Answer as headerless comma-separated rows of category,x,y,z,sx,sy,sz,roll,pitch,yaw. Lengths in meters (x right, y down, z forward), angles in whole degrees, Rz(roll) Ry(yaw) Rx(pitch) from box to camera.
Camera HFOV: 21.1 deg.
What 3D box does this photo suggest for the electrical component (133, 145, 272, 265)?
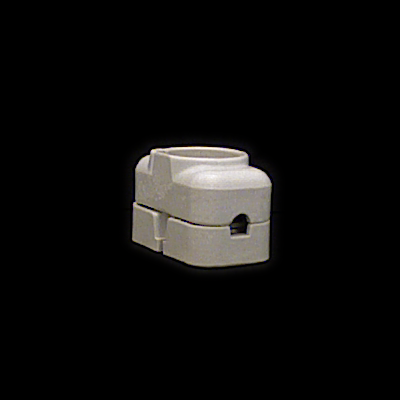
electrical component,0.000,0.000,0.650,0.054,0.060,0.093,-5,13,-30
